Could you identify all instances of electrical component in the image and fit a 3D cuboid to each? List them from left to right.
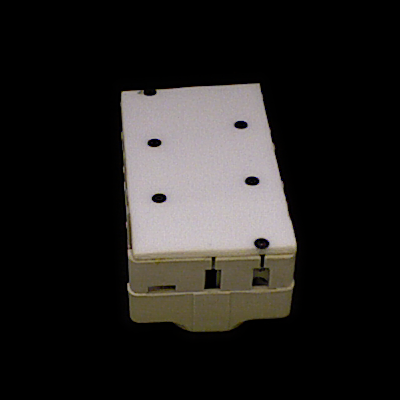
[{"bbox_3d":[0.000,0.000,0.634,0.089,0.063,0.147,-3,42,-4],"label":"electrical component"}]
